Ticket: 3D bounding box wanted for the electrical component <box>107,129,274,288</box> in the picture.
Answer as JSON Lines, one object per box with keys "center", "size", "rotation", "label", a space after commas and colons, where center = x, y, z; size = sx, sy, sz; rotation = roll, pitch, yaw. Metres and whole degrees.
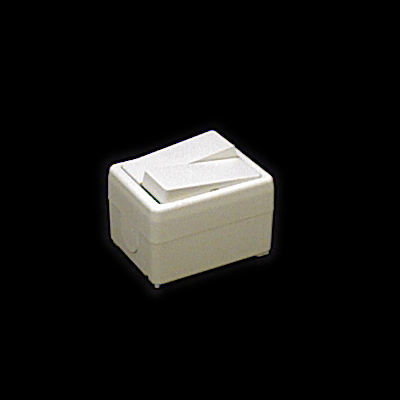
{"center": [0.000, 0.000, 0.635], "size": [0.096, 0.061, 0.061], "rotation": [-16, 35, -25], "label": "electrical component"}
